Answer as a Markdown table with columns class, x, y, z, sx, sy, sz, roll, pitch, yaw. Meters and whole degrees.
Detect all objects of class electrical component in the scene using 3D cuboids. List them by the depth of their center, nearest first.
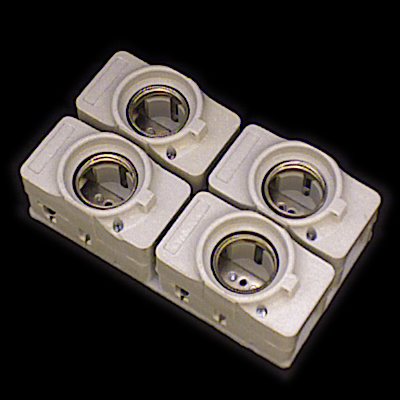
| class | x | y | z | sx | sy | sz | roll | pitch | yaw |
| --- | --- | --- | --- | --- | --- | --- | --- | --- | --- |
| electrical component | 0.000 | 0.000 | 0.626 | 0.186 | 0.106 | 0.060 | 30 | -24 | 14 |
